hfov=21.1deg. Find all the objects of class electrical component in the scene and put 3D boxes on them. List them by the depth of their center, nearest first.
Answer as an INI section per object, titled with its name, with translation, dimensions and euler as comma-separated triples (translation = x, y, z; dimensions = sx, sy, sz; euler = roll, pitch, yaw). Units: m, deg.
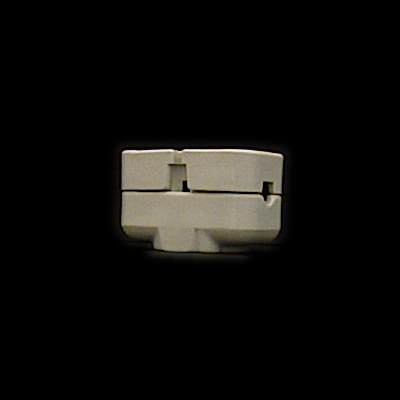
[electrical component]
translation = 0.000, 0.000, 0.654
dimensions = 0.094, 0.059, 0.054
euler = 2, 2, 32
